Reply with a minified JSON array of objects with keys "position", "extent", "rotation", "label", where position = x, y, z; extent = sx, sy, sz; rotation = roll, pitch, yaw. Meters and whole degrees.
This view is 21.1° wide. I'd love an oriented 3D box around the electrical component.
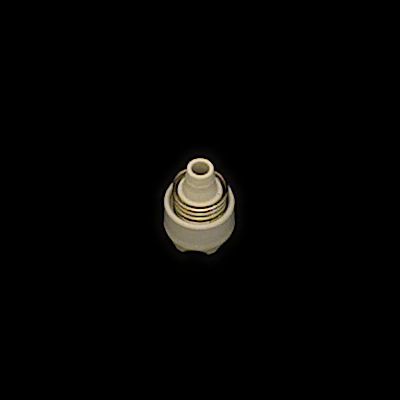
[{"position":[0.000,0.000,0.636],"extent":[0.043,0.043,0.062],"rotation":[0,-38,-1],"label":"electrical component"}]
